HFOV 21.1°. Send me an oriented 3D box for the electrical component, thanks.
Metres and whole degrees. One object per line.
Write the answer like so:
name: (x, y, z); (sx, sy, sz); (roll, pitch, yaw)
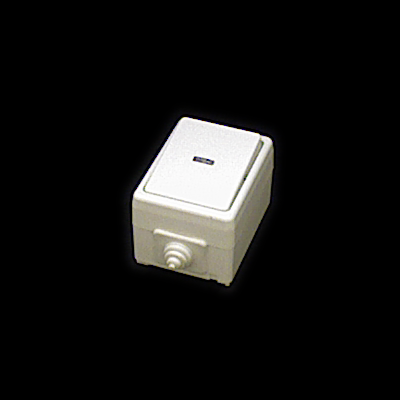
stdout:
electrical component: (0.000, 0.000, 0.629); (0.061, 0.061, 0.096); (14, 44, 14)
